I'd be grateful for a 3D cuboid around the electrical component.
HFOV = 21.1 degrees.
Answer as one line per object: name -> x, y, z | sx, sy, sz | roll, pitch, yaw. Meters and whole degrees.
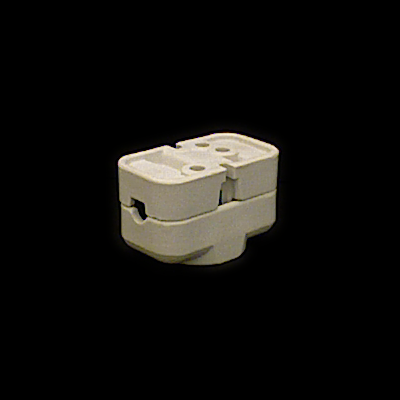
electrical component -> 0.000, 0.000, 0.646 | 0.096, 0.060, 0.053 | -18, 29, -39
